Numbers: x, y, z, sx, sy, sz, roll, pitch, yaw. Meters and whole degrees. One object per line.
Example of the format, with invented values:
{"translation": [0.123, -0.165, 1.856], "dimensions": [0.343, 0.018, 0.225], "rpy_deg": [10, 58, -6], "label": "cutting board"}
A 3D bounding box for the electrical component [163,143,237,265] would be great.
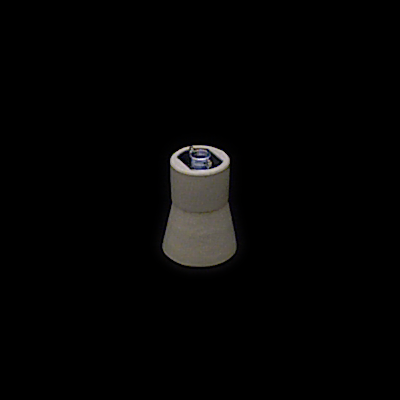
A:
{"translation": [0.000, 0.000, 0.633], "dimensions": [0.044, 0.066, 0.044], "rpy_deg": [0, 32, 0], "label": "electrical component"}
